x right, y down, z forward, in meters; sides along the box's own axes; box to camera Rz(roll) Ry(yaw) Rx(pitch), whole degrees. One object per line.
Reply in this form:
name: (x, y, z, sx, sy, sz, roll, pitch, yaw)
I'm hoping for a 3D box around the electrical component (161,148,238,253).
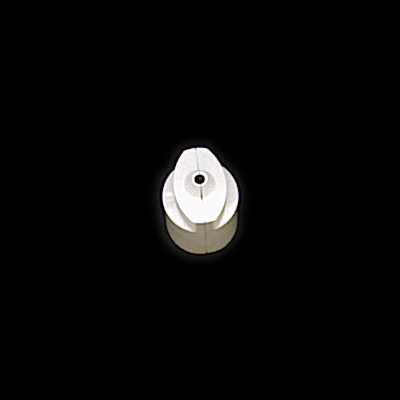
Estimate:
electrical component: (0.000, 0.000, 0.616, 0.043, 0.043, 0.080, 0, -17, 0)
